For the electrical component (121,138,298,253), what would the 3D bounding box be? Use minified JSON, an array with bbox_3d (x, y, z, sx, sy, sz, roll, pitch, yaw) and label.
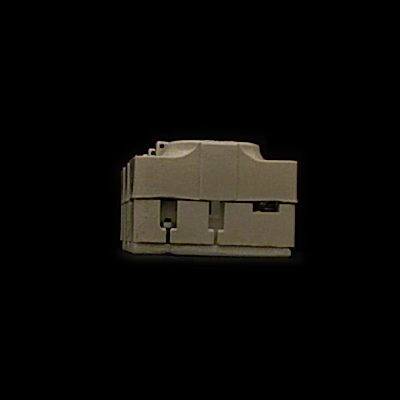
[{"bbox_3d":[0.000,0.000,0.655,0.090,0.062,0.150,1,-1,-8],"label":"electrical component"}]
